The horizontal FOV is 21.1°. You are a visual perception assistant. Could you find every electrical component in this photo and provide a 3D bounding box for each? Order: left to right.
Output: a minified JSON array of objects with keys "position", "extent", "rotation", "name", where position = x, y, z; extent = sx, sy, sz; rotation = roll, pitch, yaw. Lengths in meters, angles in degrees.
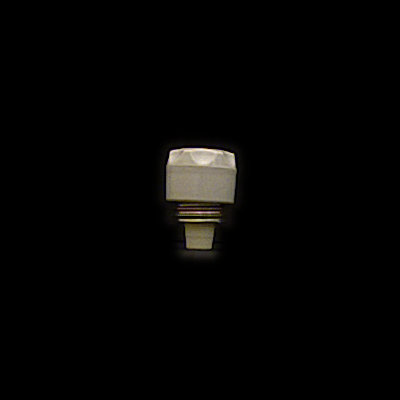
[{"position":[0.000,0.000,0.657],"extent":[0.043,0.062,0.043],"rotation":[2,1,0],"name":"electrical component"}]
